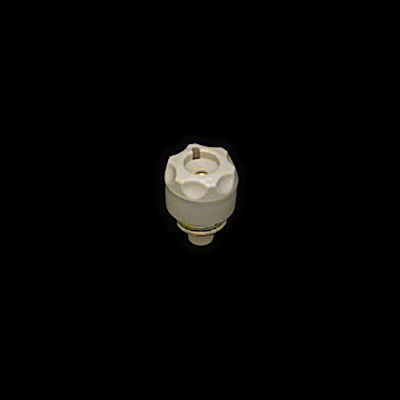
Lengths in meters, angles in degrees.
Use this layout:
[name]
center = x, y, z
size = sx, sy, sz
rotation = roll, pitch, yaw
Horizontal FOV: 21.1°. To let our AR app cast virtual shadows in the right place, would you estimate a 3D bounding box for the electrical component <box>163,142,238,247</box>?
[electrical component]
center = 0.000, 0.000, 0.637
size = 0.043, 0.062, 0.043
rotation = 1, 43, 0
